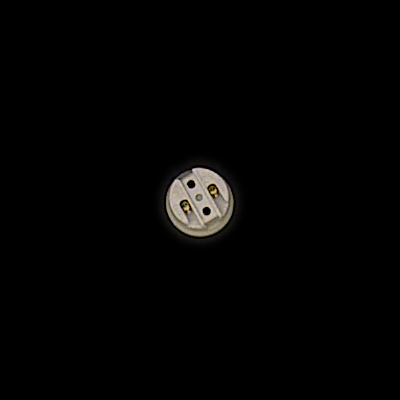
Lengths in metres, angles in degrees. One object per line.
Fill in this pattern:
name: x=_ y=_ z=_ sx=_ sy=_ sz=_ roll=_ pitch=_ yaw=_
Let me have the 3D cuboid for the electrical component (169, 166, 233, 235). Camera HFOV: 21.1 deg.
electrical component: x=0.000 y=0.000 z=0.634 sx=0.040 sy=0.040 sz=0.046 roll=0 pitch=-6 yaw=1
